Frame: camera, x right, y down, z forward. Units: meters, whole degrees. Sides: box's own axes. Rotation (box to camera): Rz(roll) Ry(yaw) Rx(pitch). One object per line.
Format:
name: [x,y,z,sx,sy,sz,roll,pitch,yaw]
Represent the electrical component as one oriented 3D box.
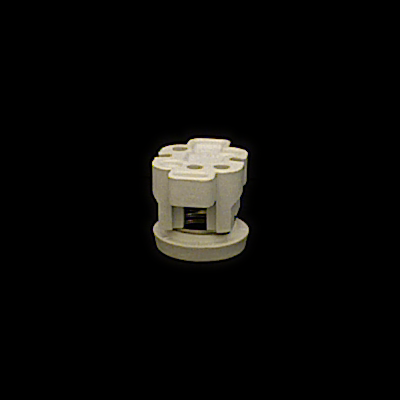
electrical component: [0.000,0.000,0.648,0.058,0.057,0.078,3,20,7]
